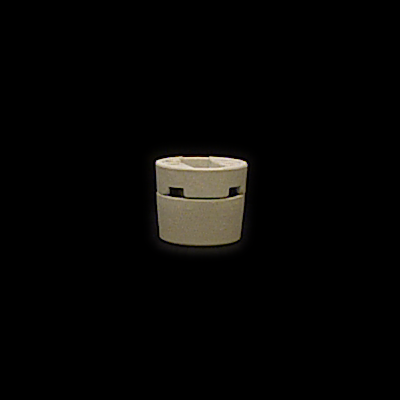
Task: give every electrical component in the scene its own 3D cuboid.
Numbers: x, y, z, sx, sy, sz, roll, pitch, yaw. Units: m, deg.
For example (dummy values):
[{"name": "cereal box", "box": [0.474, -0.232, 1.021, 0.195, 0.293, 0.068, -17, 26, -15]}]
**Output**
[{"name": "electrical component", "box": [0.000, 0.000, 0.647, 0.055, 0.047, 0.055, 2, 11, 0]}]
